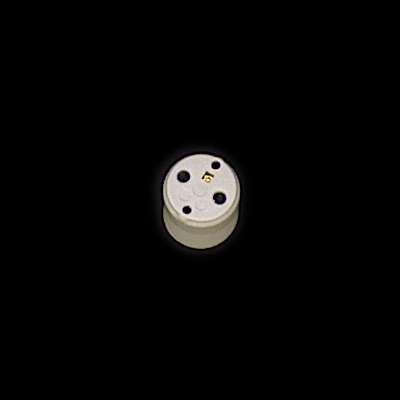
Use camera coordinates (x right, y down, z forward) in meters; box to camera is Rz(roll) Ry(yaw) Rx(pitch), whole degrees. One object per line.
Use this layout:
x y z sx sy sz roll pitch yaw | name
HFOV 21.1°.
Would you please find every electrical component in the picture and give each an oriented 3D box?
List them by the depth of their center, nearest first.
0.000 0.000 0.628 0.045 0.045 0.055 0 -16 0 | electrical component
